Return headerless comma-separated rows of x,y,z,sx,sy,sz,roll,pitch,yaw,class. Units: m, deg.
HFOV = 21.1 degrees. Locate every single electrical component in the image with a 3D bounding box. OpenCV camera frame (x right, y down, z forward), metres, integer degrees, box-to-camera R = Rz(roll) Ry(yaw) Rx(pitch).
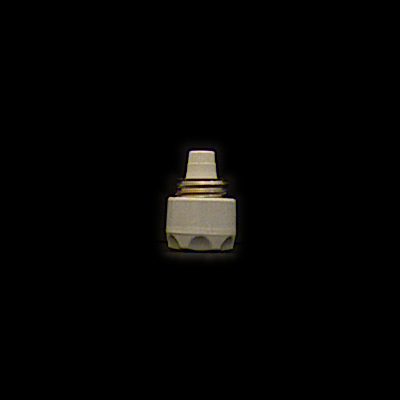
0.000,0.000,0.657,0.043,0.062,0.043,1,1,1,electrical component
